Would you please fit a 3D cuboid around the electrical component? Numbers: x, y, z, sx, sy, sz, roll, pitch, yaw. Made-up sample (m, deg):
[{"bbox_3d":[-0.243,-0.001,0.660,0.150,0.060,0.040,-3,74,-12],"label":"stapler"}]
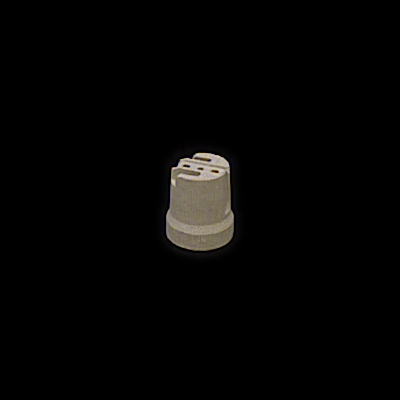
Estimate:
[{"bbox_3d":[0.000,0.000,0.639,0.040,0.046,0.040,1,32,0],"label":"electrical component"}]
